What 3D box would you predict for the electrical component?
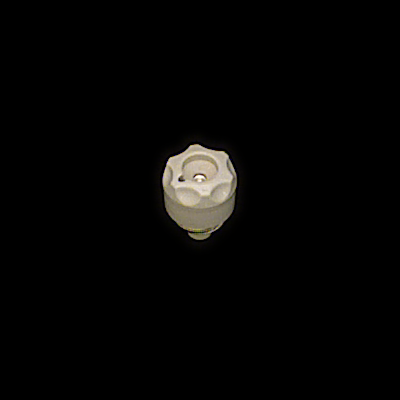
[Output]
[{"bbox_3d":[0.000,0.000,0.636,0.043,0.043,0.062,0,-38,-1],"label":"electrical component"}]
